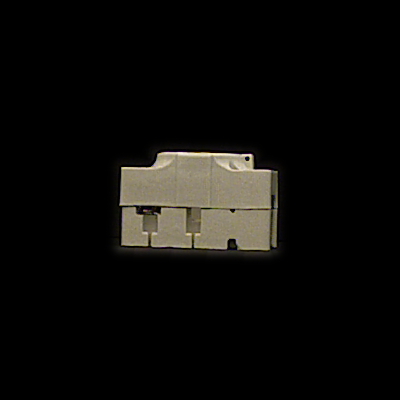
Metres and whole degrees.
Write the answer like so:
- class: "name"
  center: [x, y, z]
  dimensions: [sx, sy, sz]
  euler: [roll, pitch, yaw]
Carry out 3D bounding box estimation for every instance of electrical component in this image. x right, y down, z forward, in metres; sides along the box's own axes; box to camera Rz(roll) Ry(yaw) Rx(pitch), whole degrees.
- class: "electrical component"
  center: [0.000, 0.000, 0.656]
  dimensions: [0.089, 0.056, 0.050]
  euler: [1, 1, 9]
